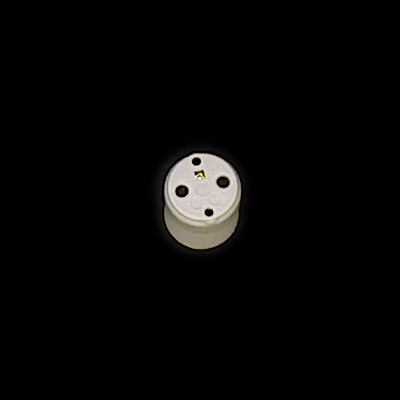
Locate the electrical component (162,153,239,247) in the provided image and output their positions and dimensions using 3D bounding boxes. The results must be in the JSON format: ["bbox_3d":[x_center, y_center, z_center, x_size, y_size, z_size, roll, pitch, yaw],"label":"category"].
[{"bbox_3d":[0.000,0.000,0.629,0.045,0.045,0.055,0,-16,0],"label":"electrical component"}]
